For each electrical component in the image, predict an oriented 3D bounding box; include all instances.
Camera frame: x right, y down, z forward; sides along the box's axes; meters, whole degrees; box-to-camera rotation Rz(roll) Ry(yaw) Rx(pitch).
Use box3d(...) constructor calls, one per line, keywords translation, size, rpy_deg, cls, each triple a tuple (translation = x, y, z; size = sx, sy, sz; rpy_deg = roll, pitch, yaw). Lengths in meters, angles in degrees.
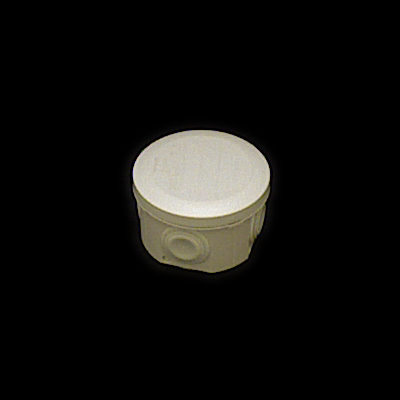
box3d(translation=(0.000, 0.000, 0.635), size=(0.080, 0.051, 0.079), rpy_deg=(1, 42, 0), cls="electrical component")
